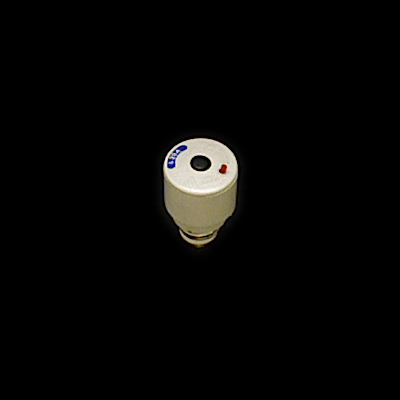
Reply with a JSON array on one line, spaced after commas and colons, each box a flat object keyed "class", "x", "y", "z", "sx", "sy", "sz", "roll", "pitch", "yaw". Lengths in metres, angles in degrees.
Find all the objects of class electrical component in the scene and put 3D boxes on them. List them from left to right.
[{"class": "electrical component", "x": 0.000, "y": 0.000, "z": 0.619, "sx": 0.040, "sy": 0.040, "sz": 0.078, "roll": 0, "pitch": -38, "yaw": -1}]
